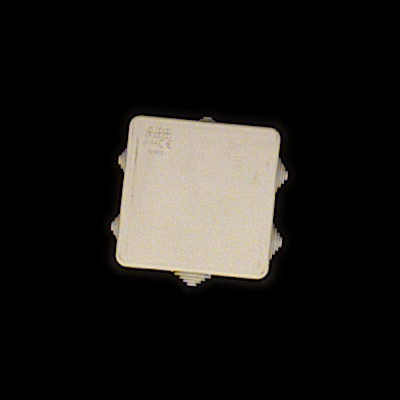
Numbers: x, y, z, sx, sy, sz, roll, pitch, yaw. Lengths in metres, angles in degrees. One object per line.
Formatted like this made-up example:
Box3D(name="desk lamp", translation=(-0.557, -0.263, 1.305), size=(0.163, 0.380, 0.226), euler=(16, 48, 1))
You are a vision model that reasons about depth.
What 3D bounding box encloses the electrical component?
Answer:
Box3D(name="electrical component", translation=(0.000, 0.000, 0.642), size=(0.100, 0.100, 0.048), euler=(6, -6, 1))
